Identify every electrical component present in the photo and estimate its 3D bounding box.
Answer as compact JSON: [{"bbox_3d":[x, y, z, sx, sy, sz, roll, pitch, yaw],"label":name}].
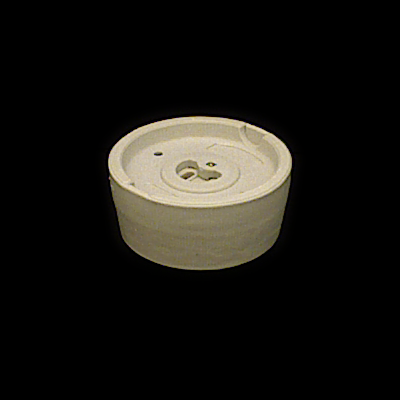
[{"bbox_3d":[0.000,0.000,0.645,0.108,0.061,0.106,1,32,0],"label":"electrical component"}]
